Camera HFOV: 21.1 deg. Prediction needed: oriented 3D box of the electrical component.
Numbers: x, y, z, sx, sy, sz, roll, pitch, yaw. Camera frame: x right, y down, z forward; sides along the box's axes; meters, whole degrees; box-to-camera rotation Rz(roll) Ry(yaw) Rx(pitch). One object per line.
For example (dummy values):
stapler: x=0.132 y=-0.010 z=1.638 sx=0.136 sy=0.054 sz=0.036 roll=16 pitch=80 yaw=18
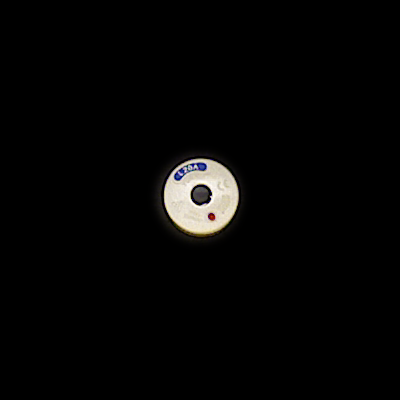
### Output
electrical component: x=0.000 y=0.000 z=0.617 sx=0.040 sy=0.040 sz=0.078 roll=0 pitch=-5 yaw=0
